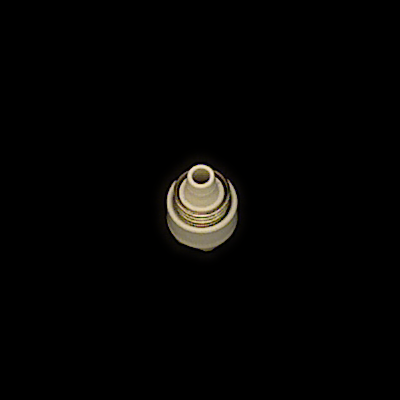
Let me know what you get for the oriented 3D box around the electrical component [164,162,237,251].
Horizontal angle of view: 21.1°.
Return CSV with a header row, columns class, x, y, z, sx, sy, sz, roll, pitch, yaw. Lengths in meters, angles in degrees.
class,x,y,z,sx,sy,sz,roll,pitch,yaw
electrical component,0.000,0.000,0.634,0.043,0.043,0.062,0,-28,0
